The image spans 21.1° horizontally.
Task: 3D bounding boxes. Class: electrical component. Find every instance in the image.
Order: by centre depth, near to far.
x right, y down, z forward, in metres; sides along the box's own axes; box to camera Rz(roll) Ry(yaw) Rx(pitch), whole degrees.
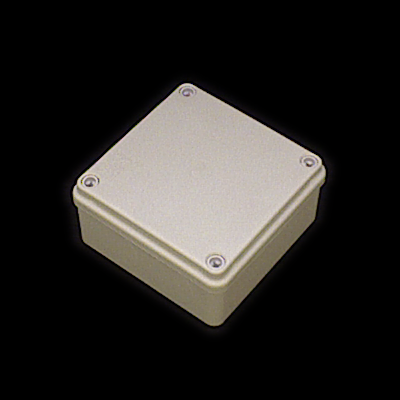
[{"bbox_3d":[0.000,0.000,0.630,0.108,0.108,0.056,32,-32,21],"label":"electrical component"}]
